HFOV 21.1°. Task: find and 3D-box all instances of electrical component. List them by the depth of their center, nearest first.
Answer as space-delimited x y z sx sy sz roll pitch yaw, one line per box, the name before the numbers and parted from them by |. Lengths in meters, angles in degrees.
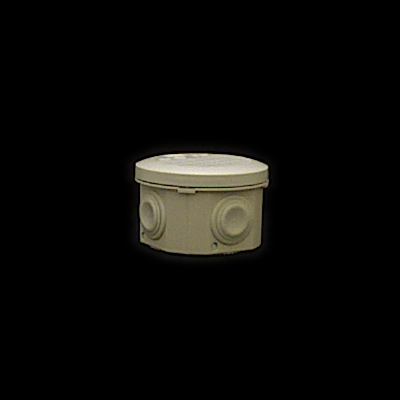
electrical component | 0.000 0.000 0.647 0.080 0.051 0.079 1 11 0
